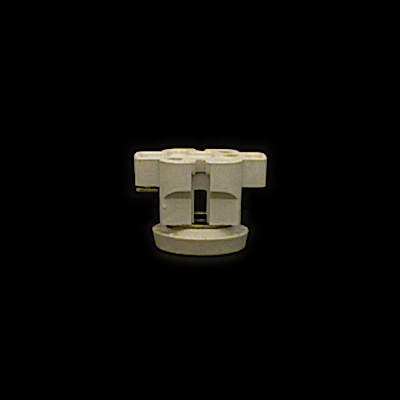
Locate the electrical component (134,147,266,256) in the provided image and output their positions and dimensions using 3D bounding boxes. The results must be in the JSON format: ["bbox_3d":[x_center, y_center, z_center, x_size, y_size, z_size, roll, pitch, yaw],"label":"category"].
[{"bbox_3d":[0.000,0.000,0.650,0.078,0.057,0.057,-1,12,-2],"label":"electrical component"}]
